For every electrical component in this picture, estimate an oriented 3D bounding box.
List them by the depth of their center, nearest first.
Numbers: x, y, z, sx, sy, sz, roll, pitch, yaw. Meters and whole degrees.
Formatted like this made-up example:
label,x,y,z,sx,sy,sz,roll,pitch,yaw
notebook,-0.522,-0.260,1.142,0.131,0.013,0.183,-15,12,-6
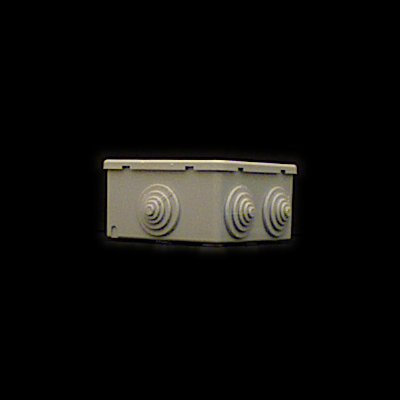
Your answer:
label,x,y,z,sx,sy,sz,roll,pitch,yaw
electrical component,0.000,0.000,0.658,0.098,0.048,0.101,2,1,35
